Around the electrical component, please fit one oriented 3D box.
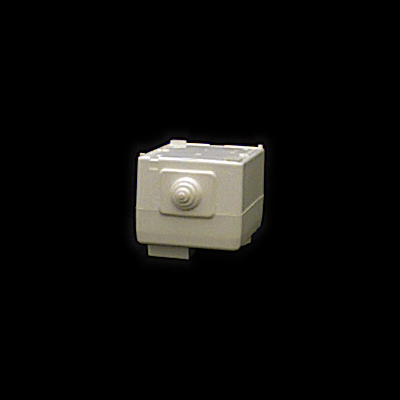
[{"bbox_3d":[0.000,0.000,0.636,0.061,0.061,0.095,4,10,12],"label":"electrical component"}]
